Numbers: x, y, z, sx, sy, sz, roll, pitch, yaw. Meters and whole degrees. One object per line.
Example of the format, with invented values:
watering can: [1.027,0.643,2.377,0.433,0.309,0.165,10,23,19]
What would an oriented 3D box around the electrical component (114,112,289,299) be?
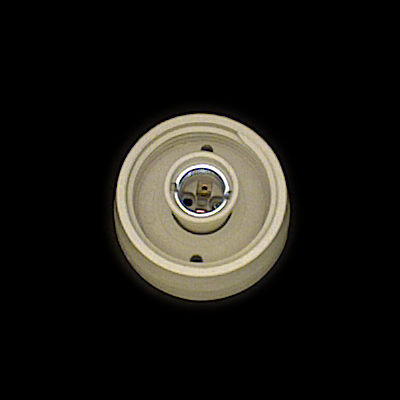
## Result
electrical component: [0.000,0.000,0.634,0.108,0.108,0.060,0,-16,0]
